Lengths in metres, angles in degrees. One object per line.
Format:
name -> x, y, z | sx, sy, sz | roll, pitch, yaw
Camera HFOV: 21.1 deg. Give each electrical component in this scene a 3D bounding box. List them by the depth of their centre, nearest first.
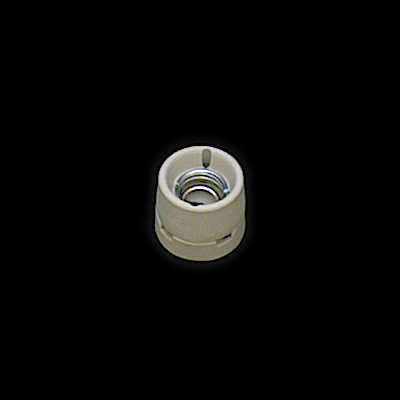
electrical component -> 0.000, 0.000, 0.635 | 0.055, 0.055, 0.047 | 0, -38, -1
